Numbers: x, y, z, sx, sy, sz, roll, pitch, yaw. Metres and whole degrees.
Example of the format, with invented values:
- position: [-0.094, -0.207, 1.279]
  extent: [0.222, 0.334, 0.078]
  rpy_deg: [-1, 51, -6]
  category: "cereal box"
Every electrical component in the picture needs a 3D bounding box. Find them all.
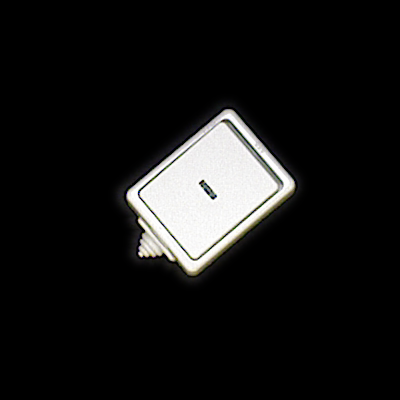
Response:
- position: [0.000, 0.000, 0.626]
  extent: [0.096, 0.062, 0.061]
  rpy_deg: [-40, -5, -4]
  category: "electrical component"
